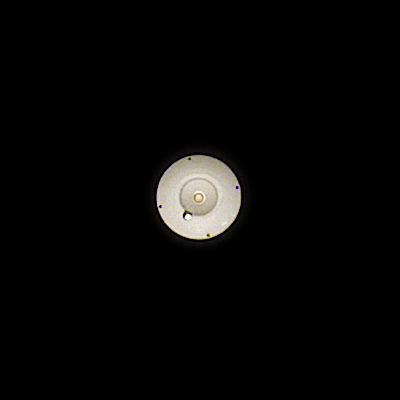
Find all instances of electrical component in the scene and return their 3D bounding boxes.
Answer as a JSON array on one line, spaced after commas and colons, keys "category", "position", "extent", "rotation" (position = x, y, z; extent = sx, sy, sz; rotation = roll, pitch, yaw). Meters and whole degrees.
[{"category": "electrical component", "position": [0.000, 0.000, 0.634], "extent": [0.048, 0.048, 0.061], "rotation": [0, -6, 1]}]
